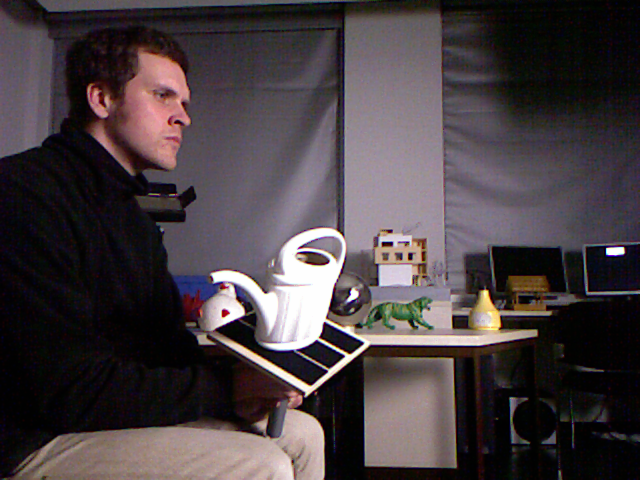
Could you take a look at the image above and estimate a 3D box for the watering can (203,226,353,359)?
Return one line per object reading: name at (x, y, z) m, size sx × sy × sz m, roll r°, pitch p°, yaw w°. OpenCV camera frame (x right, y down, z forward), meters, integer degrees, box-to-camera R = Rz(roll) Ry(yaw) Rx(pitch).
watering can at (-0.062, 0.090, 0.818) m, size 0.105 × 0.221 × 0.351 m, roll 27°, pitch 27°, yaw 30°
